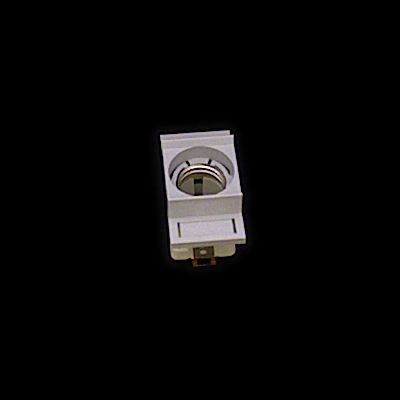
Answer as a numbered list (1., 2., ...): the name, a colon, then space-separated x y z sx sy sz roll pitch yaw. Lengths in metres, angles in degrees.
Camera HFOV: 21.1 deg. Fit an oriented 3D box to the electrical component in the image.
1. electrical component: 0.000 0.000 0.624 0.042 0.080 0.064 -3 -38 -4
